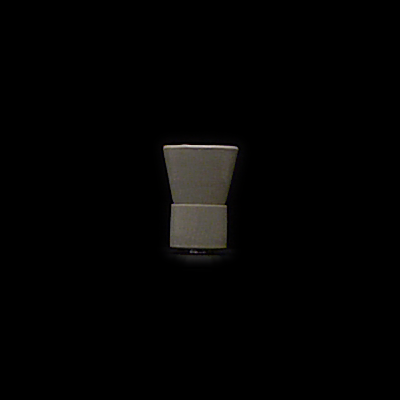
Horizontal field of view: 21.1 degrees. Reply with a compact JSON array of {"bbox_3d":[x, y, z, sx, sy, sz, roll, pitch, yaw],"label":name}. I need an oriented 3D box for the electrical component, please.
[{"bbox_3d":[0.000,0.000,0.647,0.044,0.065,0.044,2,2,0],"label":"electrical component"}]
